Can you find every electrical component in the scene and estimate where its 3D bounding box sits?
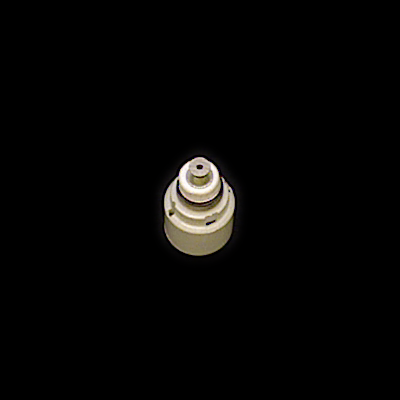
[{"bbox_3d":[0.000,0.000,0.618,0.040,0.040,0.078,0,-28,-1],"label":"electrical component"}]
